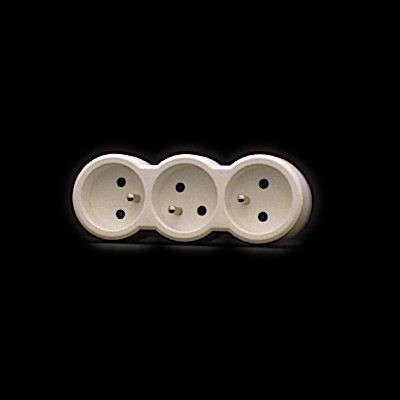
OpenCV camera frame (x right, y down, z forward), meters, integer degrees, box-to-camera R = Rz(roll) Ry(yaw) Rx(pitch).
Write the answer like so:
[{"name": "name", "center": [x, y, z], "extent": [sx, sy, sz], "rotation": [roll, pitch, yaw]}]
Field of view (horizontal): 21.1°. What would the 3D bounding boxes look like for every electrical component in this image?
[{"name": "electrical component", "center": [0.000, 0.000, 0.650], "extent": [0.138, 0.052, 0.074], "rotation": [1, -2, 14]}]
